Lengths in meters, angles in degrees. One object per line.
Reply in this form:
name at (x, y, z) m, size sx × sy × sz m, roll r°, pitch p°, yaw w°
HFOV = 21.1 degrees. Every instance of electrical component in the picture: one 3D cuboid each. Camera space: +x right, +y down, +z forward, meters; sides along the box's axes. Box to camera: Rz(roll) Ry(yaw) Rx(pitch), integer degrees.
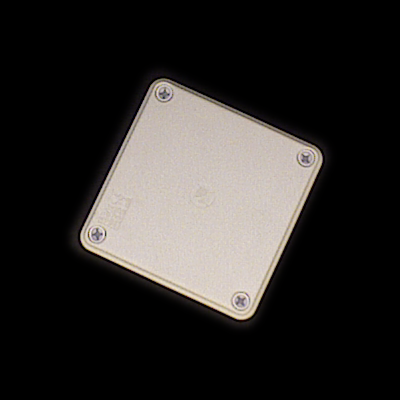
electrical component at (0.000, 0.000, 0.631) m, size 0.109 × 0.109 × 0.056 m, roll 25°, pitch -6°, yaw 2°
